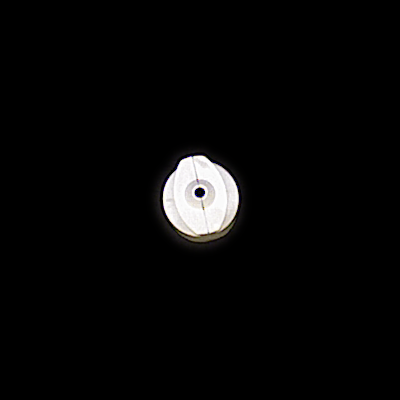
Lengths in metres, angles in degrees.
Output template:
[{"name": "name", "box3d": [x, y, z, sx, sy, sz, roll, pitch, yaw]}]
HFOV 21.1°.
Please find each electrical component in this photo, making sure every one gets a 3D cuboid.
[{"name": "electrical component", "box3d": [0.000, 0.000, 0.616, 0.043, 0.043, 0.080, 0, -6, 1]}]
